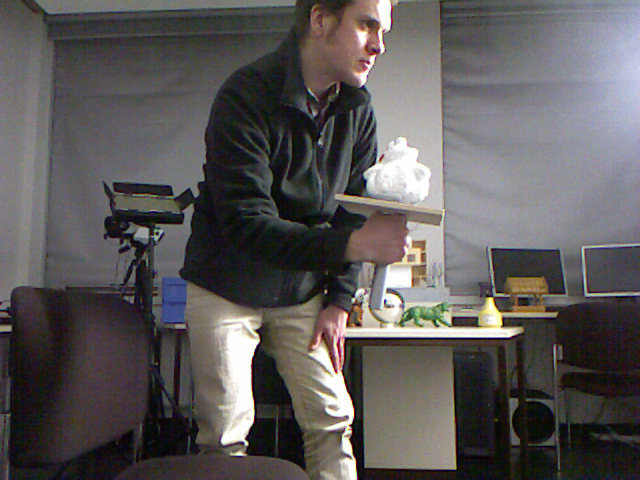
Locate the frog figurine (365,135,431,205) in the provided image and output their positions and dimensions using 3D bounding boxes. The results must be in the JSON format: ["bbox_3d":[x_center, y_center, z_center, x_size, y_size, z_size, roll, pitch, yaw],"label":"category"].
[{"bbox_3d":[0.164,-0.141,1.066,0.138,0.160,0.123,11,2,33],"label":"frog figurine"}]
